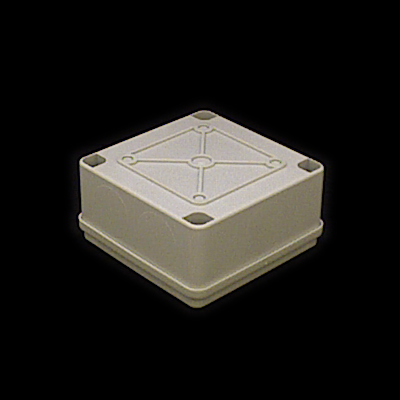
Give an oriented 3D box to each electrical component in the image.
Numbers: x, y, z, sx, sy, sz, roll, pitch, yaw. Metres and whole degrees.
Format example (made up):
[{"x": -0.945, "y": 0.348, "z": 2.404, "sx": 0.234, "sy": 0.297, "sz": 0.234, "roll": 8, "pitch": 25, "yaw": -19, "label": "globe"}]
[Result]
[{"x": 0.000, "y": 0.000, "z": 0.637, "sx": 0.108, "sy": 0.057, "sz": 0.107, "roll": -25, "pitch": 40, "yaw": -37, "label": "electrical component"}]
